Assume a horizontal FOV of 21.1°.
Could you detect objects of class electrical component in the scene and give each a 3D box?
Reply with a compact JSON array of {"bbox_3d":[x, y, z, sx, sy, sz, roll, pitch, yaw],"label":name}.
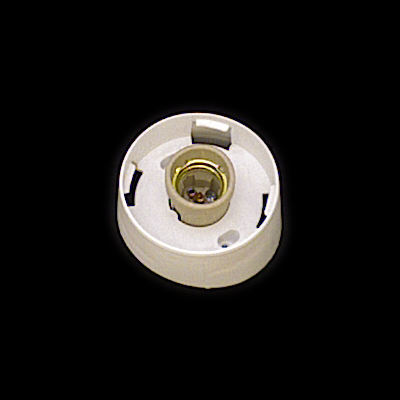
[{"bbox_3d":[0.000,0.000,0.625,0.099,0.099,0.064,0,-27,0],"label":"electrical component"}]
